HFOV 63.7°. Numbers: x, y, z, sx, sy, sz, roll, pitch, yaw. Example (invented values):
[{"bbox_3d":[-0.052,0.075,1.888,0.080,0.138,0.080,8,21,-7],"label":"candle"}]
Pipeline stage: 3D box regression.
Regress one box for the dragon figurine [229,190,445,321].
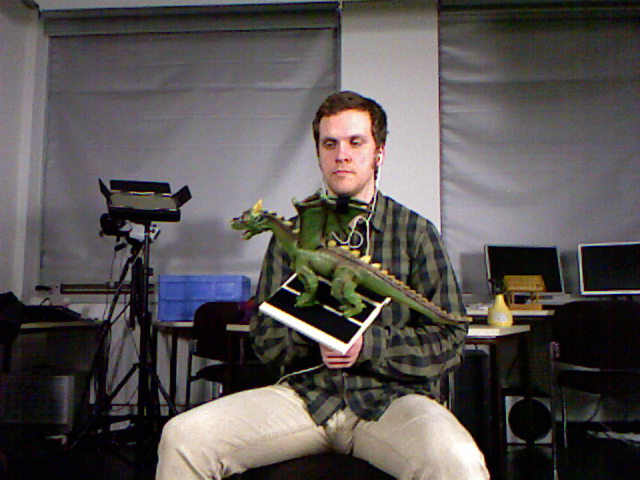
[{"bbox_3d":[0.029,0.019,0.937,0.412,0.237,0.125,10,47,18],"label":"dragon figurine"}]
